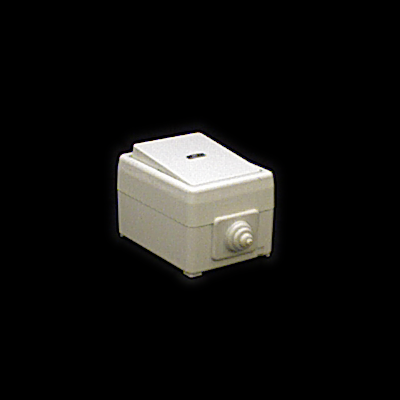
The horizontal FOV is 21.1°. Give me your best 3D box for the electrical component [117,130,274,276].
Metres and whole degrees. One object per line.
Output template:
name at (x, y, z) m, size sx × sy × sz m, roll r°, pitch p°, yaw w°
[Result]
electrical component at (0.000, 0.000, 0.637) m, size 0.061 × 0.061 × 0.095 m, roll -14°, pitch 25°, yaw -33°
